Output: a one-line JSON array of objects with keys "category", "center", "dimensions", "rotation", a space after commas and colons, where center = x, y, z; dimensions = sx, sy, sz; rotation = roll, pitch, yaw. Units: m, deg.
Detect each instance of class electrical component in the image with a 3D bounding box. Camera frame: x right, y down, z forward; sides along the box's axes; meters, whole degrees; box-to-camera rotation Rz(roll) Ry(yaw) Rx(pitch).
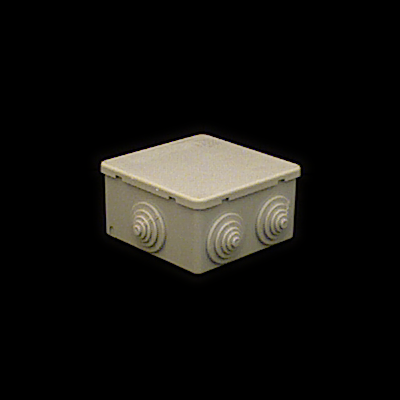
[{"category": "electrical component", "center": [0.000, 0.000, 0.649], "dimensions": [0.100, 0.049, 0.098], "rotation": [-19, 29, -41]}]
